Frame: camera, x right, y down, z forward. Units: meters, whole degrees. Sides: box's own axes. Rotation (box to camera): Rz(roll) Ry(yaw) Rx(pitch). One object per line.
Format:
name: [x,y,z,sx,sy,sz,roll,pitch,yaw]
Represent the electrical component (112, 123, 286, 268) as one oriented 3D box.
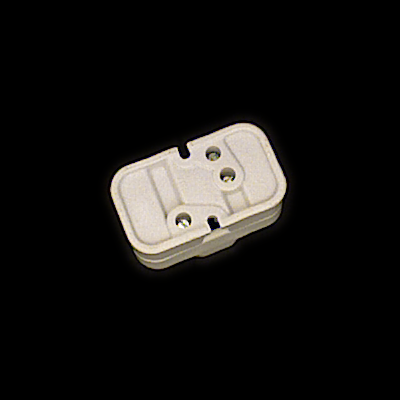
electrical component: [0.000,0.000,0.636,0.095,0.053,0.059,-22,-15,-6]
